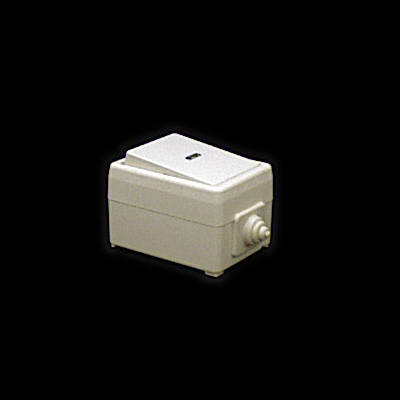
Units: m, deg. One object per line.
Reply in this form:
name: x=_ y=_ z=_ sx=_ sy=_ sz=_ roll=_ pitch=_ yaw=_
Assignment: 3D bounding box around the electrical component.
electrical component: x=0.000 y=0.000 z=0.637 sx=0.096 sy=0.061 sz=0.061 roll=14 pitch=25 yaw=31
